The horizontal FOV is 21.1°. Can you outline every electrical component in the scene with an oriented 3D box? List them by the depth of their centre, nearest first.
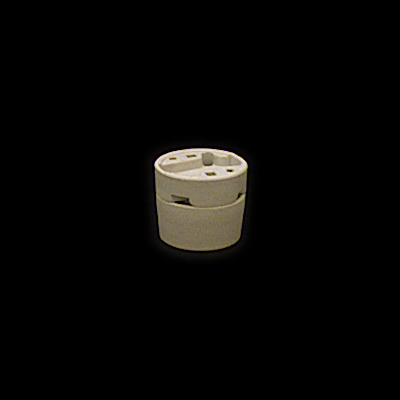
[{"bbox_3d":[0.000,0.000,0.640,0.055,0.047,0.055,1,21,0],"label":"electrical component"}]
